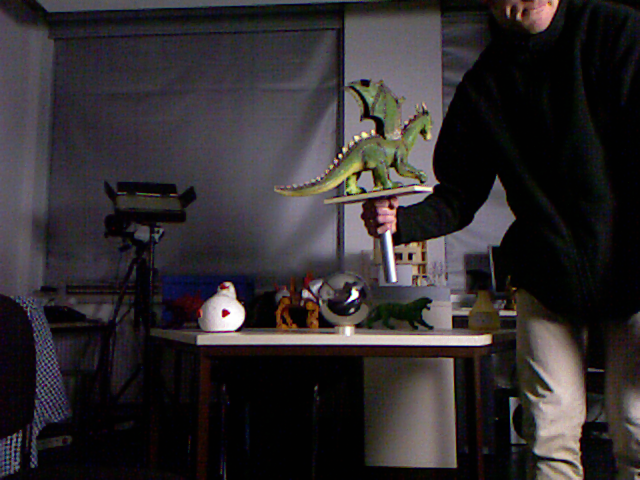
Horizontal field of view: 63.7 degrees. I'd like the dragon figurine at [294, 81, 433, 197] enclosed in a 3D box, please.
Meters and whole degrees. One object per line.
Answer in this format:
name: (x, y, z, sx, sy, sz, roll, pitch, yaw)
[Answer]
dragon figurine: (0.115, -0.231, 1.156, 0.413, 0.242, 0.122, -9, 6, -34)
